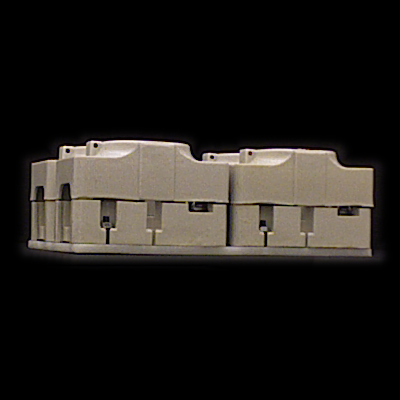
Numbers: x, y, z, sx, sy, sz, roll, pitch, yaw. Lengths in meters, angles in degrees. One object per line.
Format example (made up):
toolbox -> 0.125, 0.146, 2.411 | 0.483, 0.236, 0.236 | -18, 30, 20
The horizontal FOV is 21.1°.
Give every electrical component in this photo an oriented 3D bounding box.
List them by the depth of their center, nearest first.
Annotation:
electrical component -> 0.000, 0.000, 0.648 | 0.187, 0.060, 0.105 | 1, 0, -23
